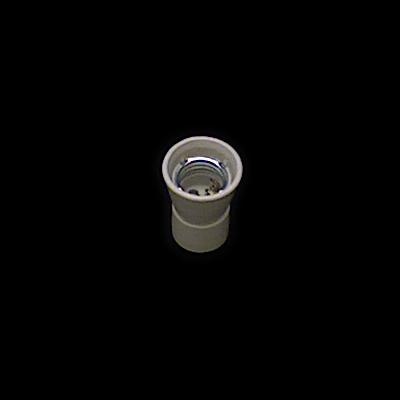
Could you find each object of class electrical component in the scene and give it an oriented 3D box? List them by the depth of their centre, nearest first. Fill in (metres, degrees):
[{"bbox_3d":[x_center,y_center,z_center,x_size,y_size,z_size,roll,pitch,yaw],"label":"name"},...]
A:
[{"bbox_3d":[0.000,0.000,0.625,0.044,0.044,0.065,0,-37,-1],"label":"electrical component"}]
